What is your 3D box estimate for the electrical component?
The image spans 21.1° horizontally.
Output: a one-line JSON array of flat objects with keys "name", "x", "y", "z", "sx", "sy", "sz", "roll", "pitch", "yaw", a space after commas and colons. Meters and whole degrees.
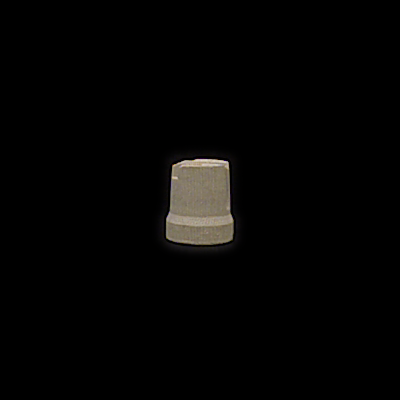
[{"name": "electrical component", "x": 0.000, "y": 0.000, "z": 0.647, "sx": 0.040, "sy": 0.046, "sz": 0.040, "roll": 2, "pitch": 11, "yaw": 0}]
